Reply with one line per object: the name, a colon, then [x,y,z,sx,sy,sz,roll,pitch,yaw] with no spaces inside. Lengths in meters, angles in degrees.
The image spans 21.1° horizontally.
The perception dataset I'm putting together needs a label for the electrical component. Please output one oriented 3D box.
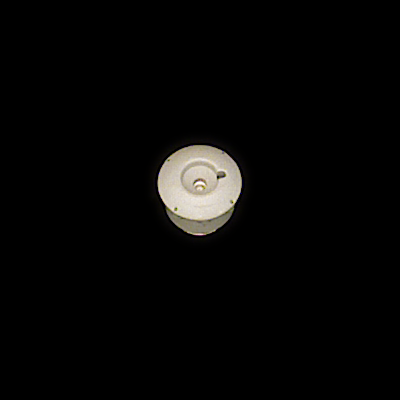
electrical component: [0.000,0.000,0.635,0.048,0.048,0.062,0,-27,0]
